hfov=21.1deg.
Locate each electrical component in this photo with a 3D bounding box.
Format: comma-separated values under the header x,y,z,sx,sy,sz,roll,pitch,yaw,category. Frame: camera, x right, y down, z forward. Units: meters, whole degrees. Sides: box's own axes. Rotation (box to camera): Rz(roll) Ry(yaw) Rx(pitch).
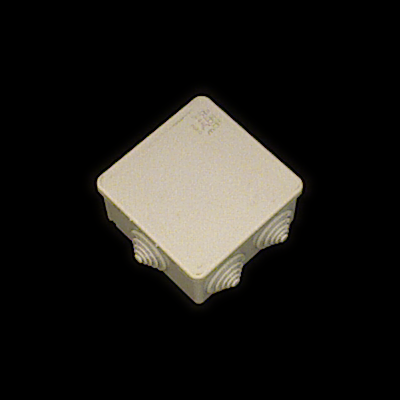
x,y,z,sx,sy,sz,roll,pitch,yaw,category
0.000,0.000,0.640,0.100,0.099,0.048,-41,-20,-18,electrical component
